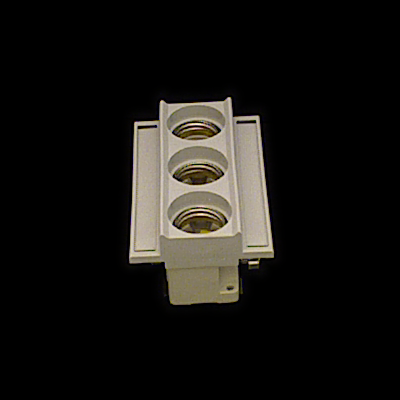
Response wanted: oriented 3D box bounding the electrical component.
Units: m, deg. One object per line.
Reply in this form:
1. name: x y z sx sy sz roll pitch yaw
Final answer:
1. electrical component: 0.000 0.000 0.641 0.079 0.063 0.120 -2 43 0
